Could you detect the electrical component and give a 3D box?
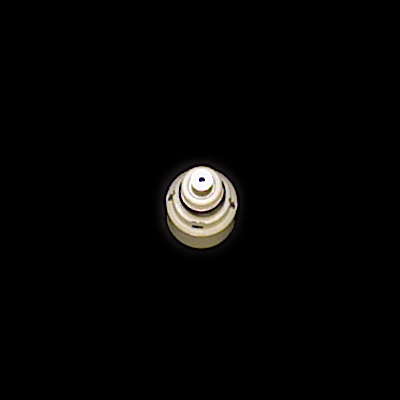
[{"bbox_3d":[0.000,0.000,0.617,0.040,0.040,0.078,0,-17,-1],"label":"electrical component"}]
